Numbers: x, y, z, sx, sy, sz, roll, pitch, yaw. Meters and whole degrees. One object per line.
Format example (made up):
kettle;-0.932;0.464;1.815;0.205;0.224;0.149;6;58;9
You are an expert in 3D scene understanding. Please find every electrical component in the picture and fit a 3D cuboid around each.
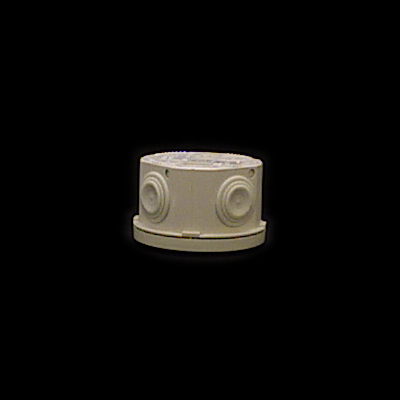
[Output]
electrical component;0.000;0.000;0.646;0.080;0.051;0.079;2;10;0
